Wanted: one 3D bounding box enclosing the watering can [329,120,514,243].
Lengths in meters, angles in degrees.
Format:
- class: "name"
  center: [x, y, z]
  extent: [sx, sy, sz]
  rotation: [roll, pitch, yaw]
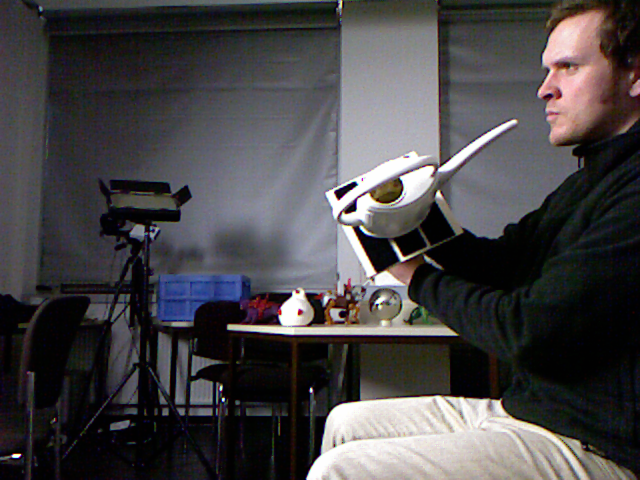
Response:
- class: "watering can"
  center: [0.183, -0.097, 0.950]
  extent: [0.349, 0.106, 0.222]
  rotation: [-23, -20, -2]
